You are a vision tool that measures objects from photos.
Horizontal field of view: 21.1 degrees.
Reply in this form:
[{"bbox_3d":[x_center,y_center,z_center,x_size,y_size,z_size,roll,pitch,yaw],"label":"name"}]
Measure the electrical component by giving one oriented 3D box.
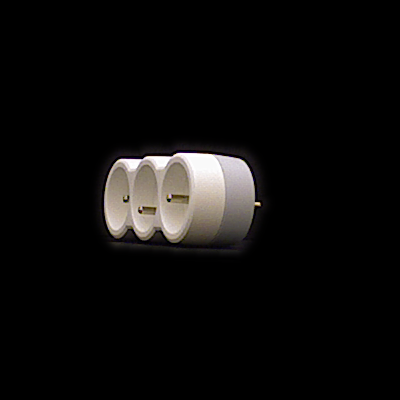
[{"bbox_3d":[0.000,0.000,0.652,0.074,0.052,0.138,3,-2,-26],"label":"electrical component"}]
